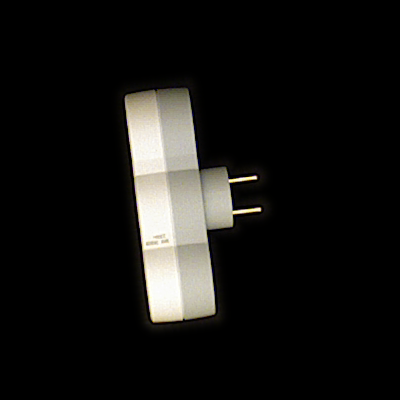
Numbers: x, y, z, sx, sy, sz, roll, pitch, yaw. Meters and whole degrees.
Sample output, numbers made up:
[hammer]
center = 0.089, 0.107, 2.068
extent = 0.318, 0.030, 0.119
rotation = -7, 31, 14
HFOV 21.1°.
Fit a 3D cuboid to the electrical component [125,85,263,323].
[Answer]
[electrical component]
center = 0.000, 0.000, 0.639
extent = 0.074, 0.138, 0.052
rotation = -7, -6, -2
